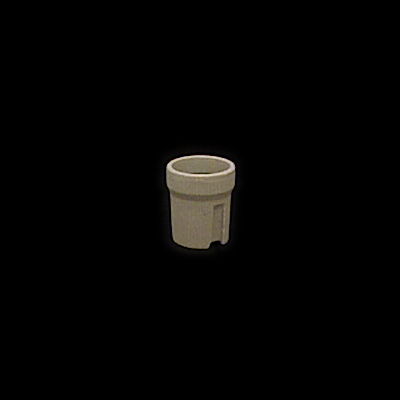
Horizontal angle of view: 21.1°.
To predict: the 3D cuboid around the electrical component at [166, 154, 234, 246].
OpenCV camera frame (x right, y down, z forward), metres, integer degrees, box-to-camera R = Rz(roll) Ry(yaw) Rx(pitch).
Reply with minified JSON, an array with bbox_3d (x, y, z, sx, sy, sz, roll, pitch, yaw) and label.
[{"bbox_3d":[0.000,0.000,0.641,0.040,0.047,0.039,1,21,0],"label":"electrical component"}]
